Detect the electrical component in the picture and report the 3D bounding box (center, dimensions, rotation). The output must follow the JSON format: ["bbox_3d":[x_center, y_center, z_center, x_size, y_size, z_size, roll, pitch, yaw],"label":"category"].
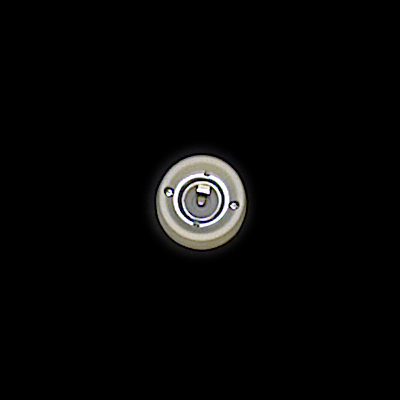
[{"bbox_3d":[0.000,0.000,0.634,0.055,0.055,0.047,0,-6,0],"label":"electrical component"}]
